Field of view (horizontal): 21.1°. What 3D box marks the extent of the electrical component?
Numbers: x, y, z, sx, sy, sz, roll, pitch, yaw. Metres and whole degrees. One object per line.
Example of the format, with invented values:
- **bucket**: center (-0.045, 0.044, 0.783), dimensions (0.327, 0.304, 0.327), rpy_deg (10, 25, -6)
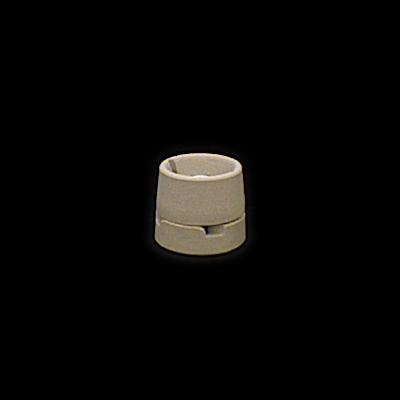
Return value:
- **electrical component**: center (0.000, 0.000, 0.642), dimensions (0.055, 0.047, 0.055), rpy_deg (0, 20, 0)
